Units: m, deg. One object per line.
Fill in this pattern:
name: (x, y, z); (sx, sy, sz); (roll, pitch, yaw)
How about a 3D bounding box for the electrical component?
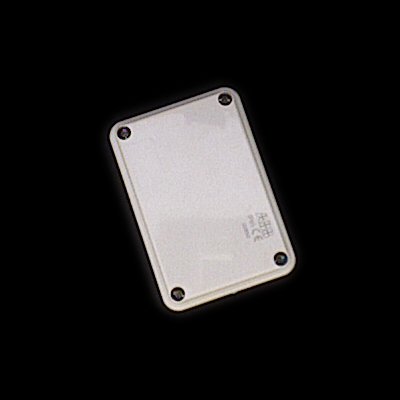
electrical component: (0.000, 0.000, 0.628); (0.078, 0.113, 0.057); (-19, -7, -2)
